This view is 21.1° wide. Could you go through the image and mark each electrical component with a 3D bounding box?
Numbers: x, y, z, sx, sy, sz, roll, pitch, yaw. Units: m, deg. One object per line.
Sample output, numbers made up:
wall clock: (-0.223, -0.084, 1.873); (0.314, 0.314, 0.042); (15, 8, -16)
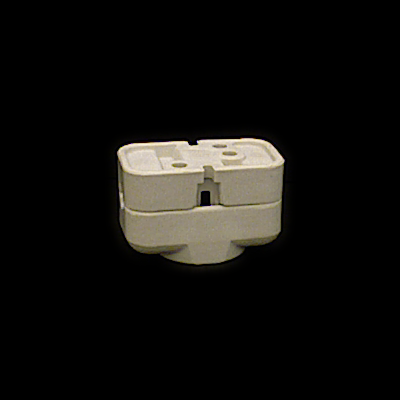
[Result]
electrical component: (0.000, 0.000, 0.647); (0.095, 0.060, 0.053); (-4, 22, -12)
